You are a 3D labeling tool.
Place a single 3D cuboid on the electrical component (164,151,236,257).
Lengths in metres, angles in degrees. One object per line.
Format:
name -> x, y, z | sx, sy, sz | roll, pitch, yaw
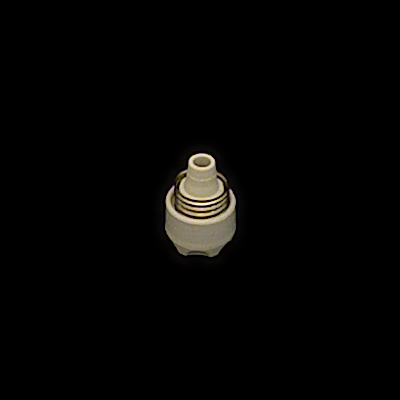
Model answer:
electrical component -> 0.000, 0.000, 0.638 | 0.043, 0.062, 0.043 | 1, 41, -1
